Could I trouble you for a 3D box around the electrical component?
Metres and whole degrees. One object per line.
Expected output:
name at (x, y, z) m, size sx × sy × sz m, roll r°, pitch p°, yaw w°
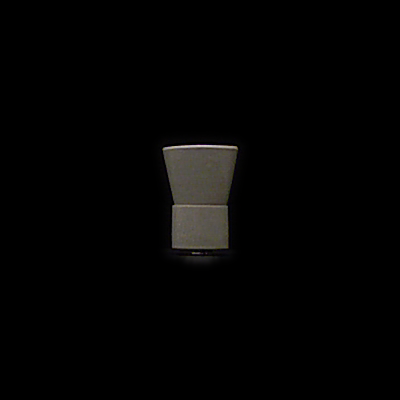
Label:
electrical component at (0.000, 0.000, 0.648) m, size 0.044 × 0.065 × 0.044 m, roll 1°, pitch 2°, yaw 0°
